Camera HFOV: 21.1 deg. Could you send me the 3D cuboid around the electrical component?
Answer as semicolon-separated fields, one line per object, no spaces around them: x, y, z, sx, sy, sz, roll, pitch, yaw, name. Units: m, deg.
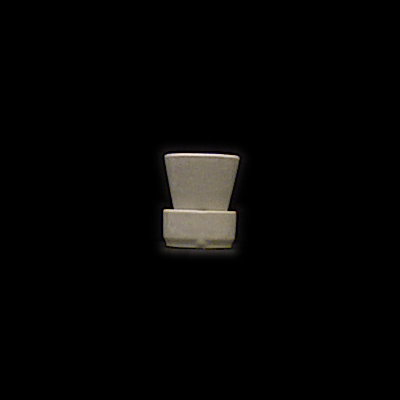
0.000;0.000;0.651;0.045;0.055;0.045;2;1;0;electrical component
